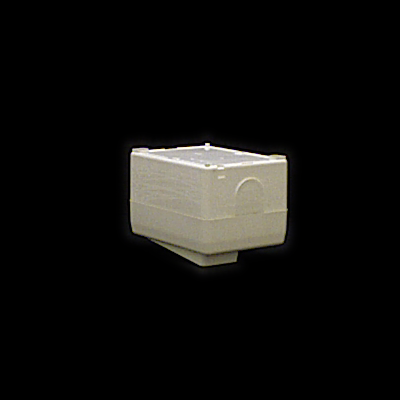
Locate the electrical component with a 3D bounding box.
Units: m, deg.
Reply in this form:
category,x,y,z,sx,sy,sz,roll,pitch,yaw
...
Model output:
category,x,y,z,sx,sy,sz,roll,pitch,yaw
electrical component,0.000,0.000,0.649,0.062,0.061,0.095,-8,14,-37
